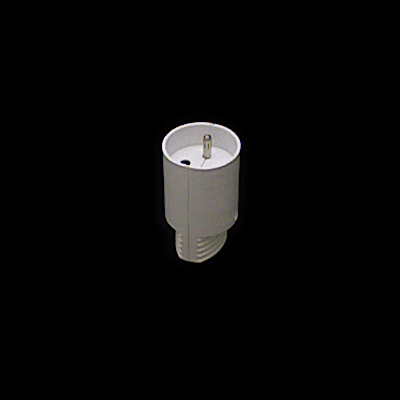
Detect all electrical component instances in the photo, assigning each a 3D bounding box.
[{"bbox_3d":[0.000,0.000,0.624,0.043,0.082,0.042,1,41,-1],"label":"electrical component"}]
